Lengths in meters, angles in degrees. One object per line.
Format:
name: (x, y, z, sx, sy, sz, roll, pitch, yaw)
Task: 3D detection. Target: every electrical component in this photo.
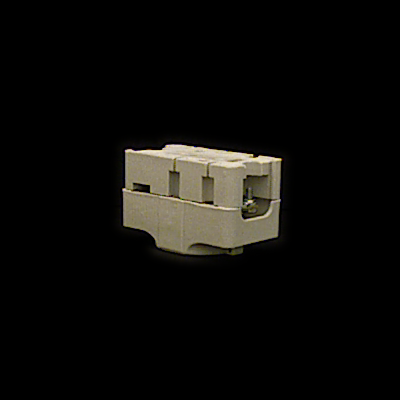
electrical component: (0.000, 0.000, 0.652, 0.088, 0.056, 0.050, 12, 15, 40)
